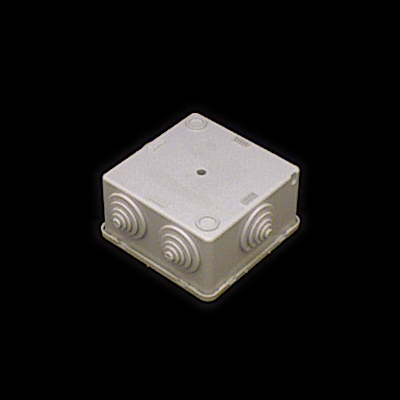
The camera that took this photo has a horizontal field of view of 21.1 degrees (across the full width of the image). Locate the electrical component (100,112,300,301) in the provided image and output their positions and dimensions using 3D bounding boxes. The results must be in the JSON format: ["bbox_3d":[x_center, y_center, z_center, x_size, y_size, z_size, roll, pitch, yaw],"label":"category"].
[{"bbox_3d":[0.000,0.000,0.634,0.099,0.049,0.099,31,50,29],"label":"electrical component"}]
